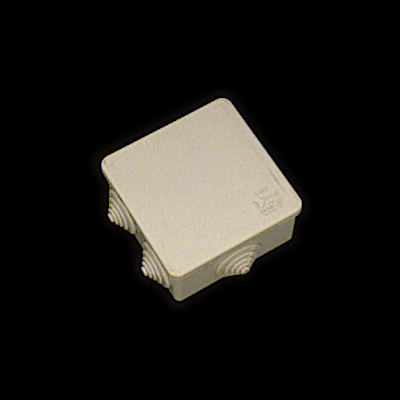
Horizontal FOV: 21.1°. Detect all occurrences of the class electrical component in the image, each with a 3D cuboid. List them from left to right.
[{"bbox_3d":[0.000,0.000,0.640,0.100,0.099,0.048,-28,-23,-13],"label":"electrical component"}]
